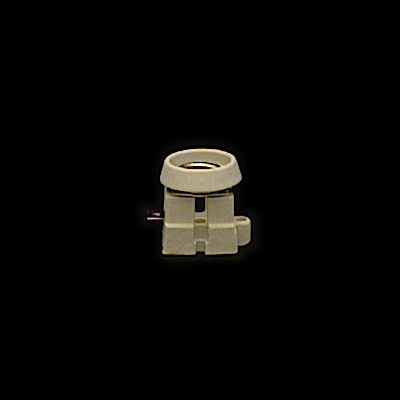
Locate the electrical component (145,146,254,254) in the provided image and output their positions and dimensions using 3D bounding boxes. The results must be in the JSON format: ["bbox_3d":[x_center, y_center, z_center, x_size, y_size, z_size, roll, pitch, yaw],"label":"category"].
[{"bbox_3d":[0.000,0.000,0.646,0.066,0.056,0.048,-1,20,-5],"label":"electrical component"}]
